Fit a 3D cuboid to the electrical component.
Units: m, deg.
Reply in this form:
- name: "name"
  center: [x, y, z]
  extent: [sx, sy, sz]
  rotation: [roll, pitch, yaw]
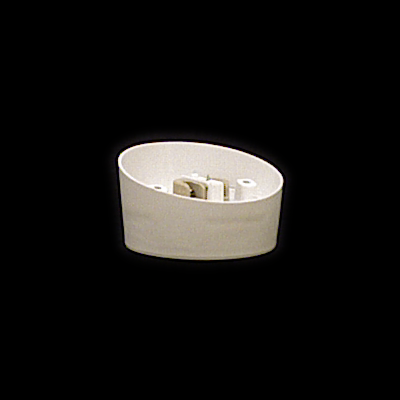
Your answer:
- name: "electrical component"
  center: [0.000, 0.000, 0.644]
  extent: [0.099, 0.064, 0.098]
  rotation: [0, 10, 0]
